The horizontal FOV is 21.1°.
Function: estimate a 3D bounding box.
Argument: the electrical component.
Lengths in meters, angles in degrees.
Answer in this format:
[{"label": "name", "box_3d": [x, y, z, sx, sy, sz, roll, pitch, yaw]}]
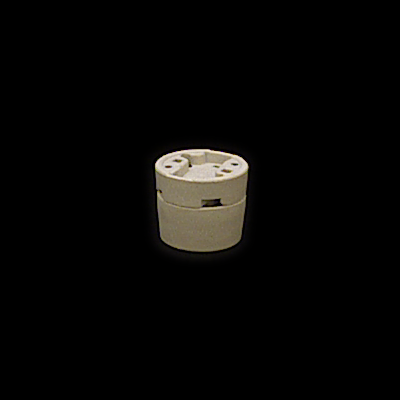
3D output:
[{"label": "electrical component", "box_3d": [0.000, 0.000, 0.640, 0.055, 0.047, 0.055, 1, 21, 0]}]
